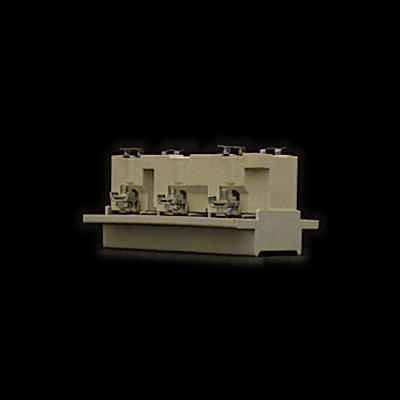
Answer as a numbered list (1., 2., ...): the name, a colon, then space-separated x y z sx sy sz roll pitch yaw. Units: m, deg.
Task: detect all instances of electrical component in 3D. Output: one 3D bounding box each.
1. electrical component: 0.000 0.000 0.654 0.120 0.063 0.079 1 1 40
